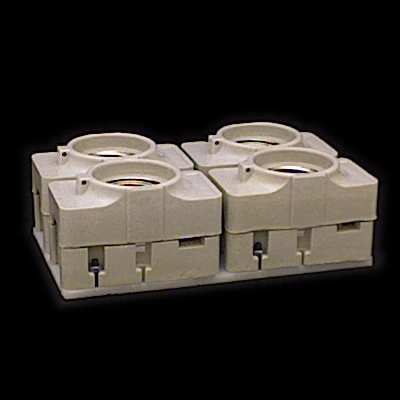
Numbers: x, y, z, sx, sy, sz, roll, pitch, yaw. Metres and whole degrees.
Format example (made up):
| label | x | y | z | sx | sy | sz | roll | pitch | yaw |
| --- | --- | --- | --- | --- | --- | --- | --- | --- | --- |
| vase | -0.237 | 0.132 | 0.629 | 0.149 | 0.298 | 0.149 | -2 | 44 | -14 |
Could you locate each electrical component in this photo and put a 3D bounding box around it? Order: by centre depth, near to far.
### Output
| label | x | y | z | sx | sy | sz | roll | pitch | yaw |
| --- | --- | --- | --- | --- | --- | --- | --- | --- | --- |
| electrical component | 0.000 | 0.000 | 0.637 | 0.186 | 0.061 | 0.104 | -5 | 22 | -17 |
